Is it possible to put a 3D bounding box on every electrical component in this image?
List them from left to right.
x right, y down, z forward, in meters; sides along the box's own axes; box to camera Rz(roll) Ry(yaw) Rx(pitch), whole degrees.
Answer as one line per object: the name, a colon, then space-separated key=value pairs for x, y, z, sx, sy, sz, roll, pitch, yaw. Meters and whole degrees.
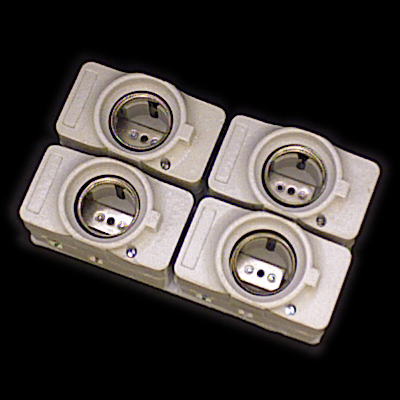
electrical component: x=0.000 y=0.000 z=0.626 sx=0.186 sy=0.106 sz=0.060 roll=20 pitch=-16 yaw=6
